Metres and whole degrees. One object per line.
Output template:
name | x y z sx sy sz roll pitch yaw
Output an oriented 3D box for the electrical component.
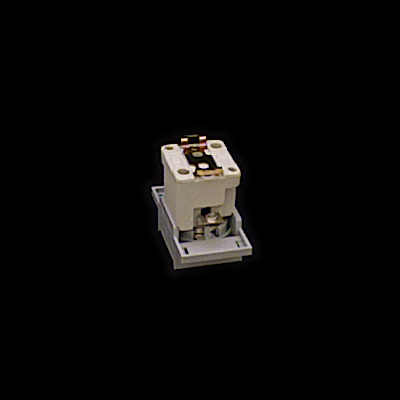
electrical component | 0.000 0.000 0.633 0.042 0.064 0.079 -7 32 -13
